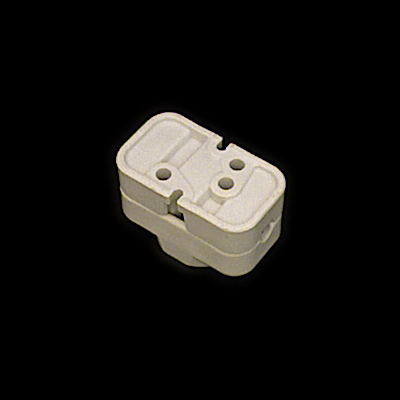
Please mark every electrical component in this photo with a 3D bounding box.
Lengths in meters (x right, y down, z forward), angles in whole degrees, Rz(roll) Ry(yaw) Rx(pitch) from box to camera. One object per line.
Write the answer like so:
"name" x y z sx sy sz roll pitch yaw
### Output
"electrical component" 0.000 0.000 0.637 0.094 0.054 0.059 29 -32 21
